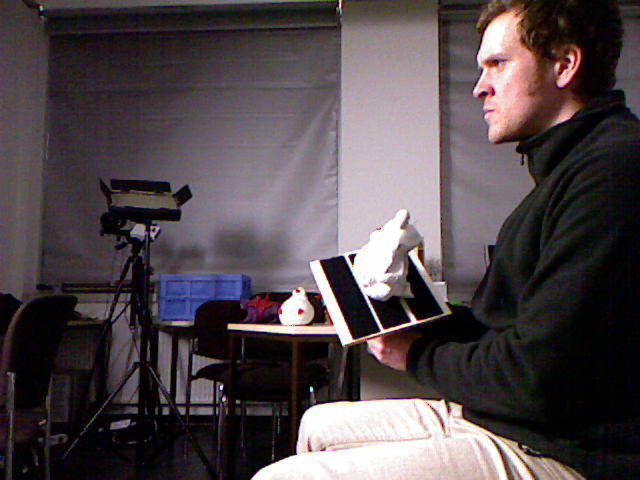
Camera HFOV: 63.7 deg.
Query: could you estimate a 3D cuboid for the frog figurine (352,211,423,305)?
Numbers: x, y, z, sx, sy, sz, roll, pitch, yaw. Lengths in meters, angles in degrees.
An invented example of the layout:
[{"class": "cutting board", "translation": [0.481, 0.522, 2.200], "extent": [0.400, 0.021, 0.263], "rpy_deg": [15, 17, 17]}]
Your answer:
[{"class": "frog figurine", "translation": [0.119, 0.030, 0.912], "extent": [0.123, 0.141, 0.156], "rpy_deg": [0, -43, 2]}]
